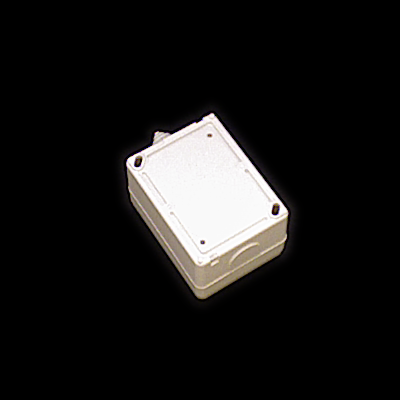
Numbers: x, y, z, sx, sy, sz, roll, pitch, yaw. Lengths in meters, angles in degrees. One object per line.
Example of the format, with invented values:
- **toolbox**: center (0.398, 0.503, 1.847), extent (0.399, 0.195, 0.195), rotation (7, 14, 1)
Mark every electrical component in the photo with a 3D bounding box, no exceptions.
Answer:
- **electrical component**: center (0.000, 0.000, 0.629), extent (0.062, 0.096, 0.061), rotation (-30, -24, -15)
